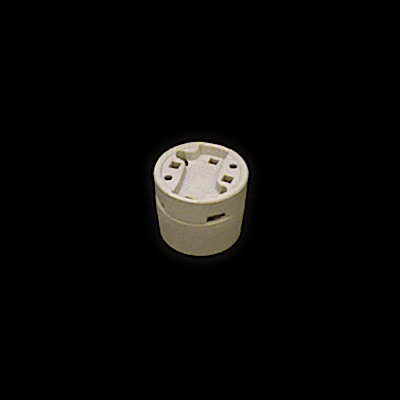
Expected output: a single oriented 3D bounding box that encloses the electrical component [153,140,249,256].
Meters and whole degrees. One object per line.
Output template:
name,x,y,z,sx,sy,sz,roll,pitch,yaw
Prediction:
electrical component,0.000,0.000,0.637,0.055,0.047,0.055,1,43,0
